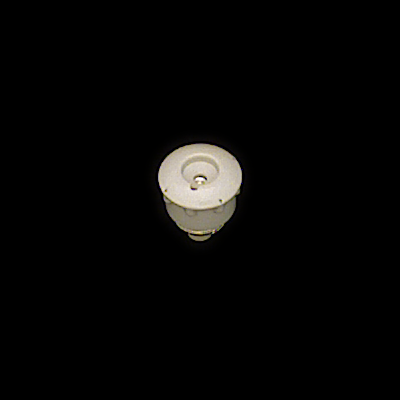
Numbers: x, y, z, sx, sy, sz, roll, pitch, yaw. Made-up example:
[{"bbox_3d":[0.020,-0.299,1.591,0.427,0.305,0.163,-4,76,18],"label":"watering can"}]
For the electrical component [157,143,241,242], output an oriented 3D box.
[{"bbox_3d":[0.000,0.000,0.634,0.048,0.048,0.062,0,-37,0],"label":"electrical component"}]
